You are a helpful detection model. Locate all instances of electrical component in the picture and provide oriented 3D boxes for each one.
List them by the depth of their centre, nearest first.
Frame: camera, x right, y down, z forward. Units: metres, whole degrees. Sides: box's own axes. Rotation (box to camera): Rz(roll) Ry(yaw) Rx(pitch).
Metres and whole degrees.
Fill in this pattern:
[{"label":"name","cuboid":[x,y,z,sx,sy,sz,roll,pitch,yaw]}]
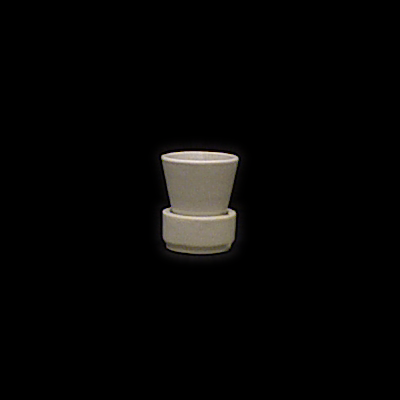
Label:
[{"label":"electrical component","cuboid":[0.000,0.000,0.643,0.045,0.055,0.044,1,11,0]}]
